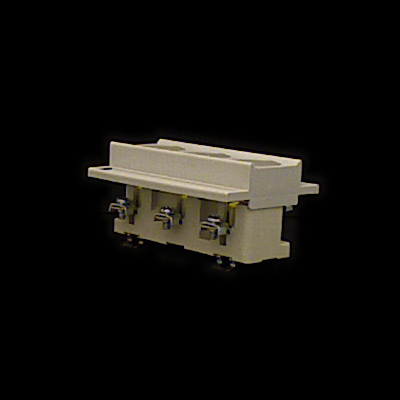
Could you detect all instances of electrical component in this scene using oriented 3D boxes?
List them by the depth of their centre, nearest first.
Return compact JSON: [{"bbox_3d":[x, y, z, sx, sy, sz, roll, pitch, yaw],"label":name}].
[{"bbox_3d":[0.000,0.000,0.659,0.079,0.063,0.120,-8,14,-44],"label":"electrical component"}]
